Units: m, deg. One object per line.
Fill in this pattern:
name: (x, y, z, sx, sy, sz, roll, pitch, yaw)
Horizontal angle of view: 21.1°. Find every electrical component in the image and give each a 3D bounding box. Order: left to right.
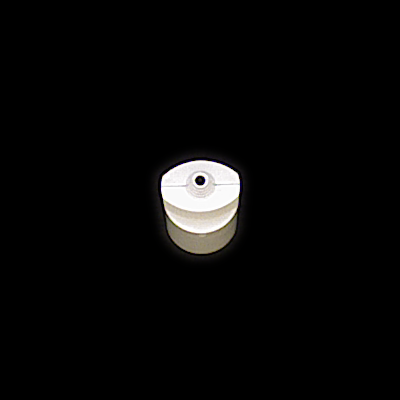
electrical component: (0.000, 0.000, 0.616, 0.043, 0.043, 0.080, 0, -17, 1)
